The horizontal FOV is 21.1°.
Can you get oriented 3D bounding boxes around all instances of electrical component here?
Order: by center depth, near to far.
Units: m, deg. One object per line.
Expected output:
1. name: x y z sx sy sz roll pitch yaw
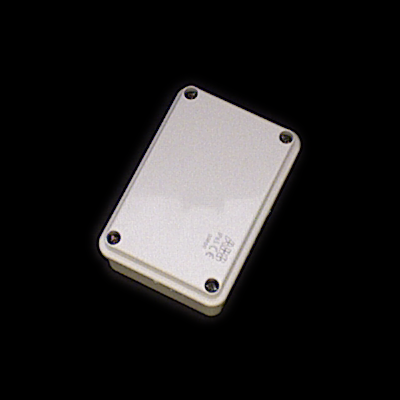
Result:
1. electrical component: 0.000 0.000 0.626 0.078 0.113 0.057 25 -15 7
